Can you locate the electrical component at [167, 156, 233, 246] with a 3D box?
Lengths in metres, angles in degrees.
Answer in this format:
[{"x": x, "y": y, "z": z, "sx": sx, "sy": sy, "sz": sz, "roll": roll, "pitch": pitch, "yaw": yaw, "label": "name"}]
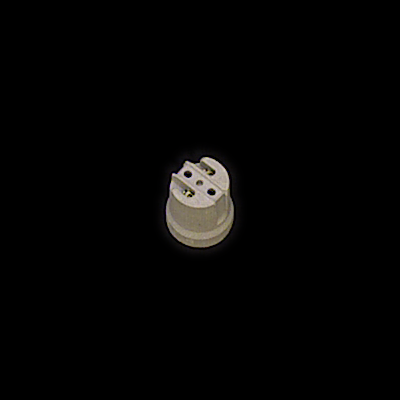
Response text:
[{"x": 0.000, "y": 0.000, "z": 0.634, "sx": 0.040, "sy": 0.040, "sz": 0.046, "roll": 0, "pitch": -27, "yaw": -1, "label": "electrical component"}]
